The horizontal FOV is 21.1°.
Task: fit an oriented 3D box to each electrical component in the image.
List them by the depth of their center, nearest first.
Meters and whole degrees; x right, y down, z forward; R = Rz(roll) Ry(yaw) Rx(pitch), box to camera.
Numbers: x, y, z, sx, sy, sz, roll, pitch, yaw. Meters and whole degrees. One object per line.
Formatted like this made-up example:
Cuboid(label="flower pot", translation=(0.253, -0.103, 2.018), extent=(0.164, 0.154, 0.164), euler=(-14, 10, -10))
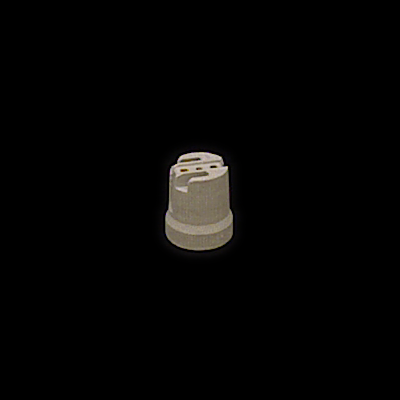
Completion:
Cuboid(label="electrical component", translation=(0.000, 0.000, 0.638), extent=(0.040, 0.046, 0.040), euler=(1, 31, 0))
